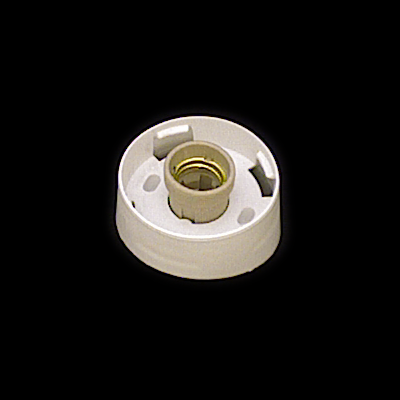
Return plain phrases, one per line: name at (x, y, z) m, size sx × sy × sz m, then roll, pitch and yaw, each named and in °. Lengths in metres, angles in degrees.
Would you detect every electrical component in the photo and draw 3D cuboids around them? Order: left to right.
electrical component at (0.000, 0.000, 0.626) m, size 0.099 × 0.098 × 0.064 m, roll 0°, pitch -38°, yaw -1°
